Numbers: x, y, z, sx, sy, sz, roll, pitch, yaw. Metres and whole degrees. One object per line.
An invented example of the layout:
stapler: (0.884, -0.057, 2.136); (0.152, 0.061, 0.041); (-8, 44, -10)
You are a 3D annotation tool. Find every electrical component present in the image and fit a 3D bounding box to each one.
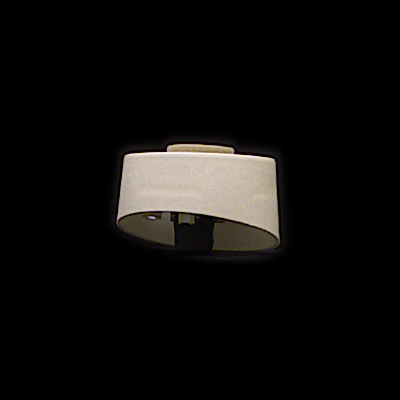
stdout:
electrical component: (0.000, 0.000, 0.649); (0.099, 0.064, 0.099); (1, 0, 0)
